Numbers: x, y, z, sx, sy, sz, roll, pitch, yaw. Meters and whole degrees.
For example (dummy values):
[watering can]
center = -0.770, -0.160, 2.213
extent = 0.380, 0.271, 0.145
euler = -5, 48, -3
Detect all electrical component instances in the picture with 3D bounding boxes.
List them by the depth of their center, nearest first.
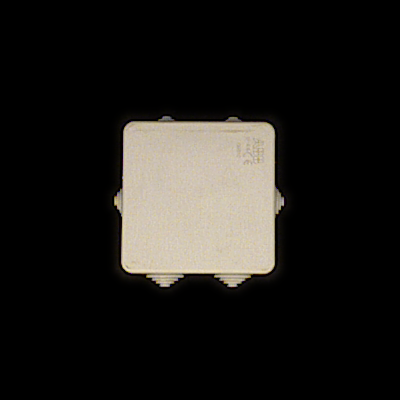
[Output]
[electrical component]
center = 0.000, 0.000, 0.642
extent = 0.100, 0.100, 0.048
euler = 1, -6, 0
